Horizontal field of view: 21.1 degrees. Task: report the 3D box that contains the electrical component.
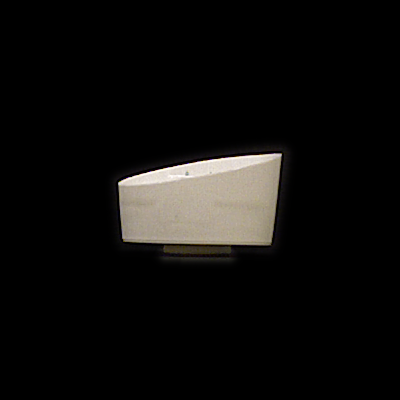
[{"bbox_3d":[0.000,0.000,0.651,0.099,0.064,0.099,2,-1,0],"label":"electrical component"}]
